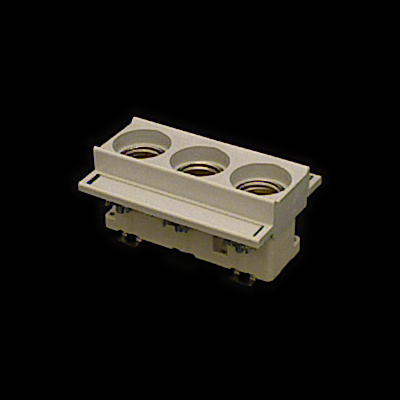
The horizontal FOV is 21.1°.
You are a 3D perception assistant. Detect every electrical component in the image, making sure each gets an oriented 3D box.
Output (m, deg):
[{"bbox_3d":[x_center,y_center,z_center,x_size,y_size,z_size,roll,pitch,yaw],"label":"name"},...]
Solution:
[{"bbox_3d":[0.000,0.000,0.645,0.120,0.064,0.078,18,38,26],"label":"electrical component"}]
